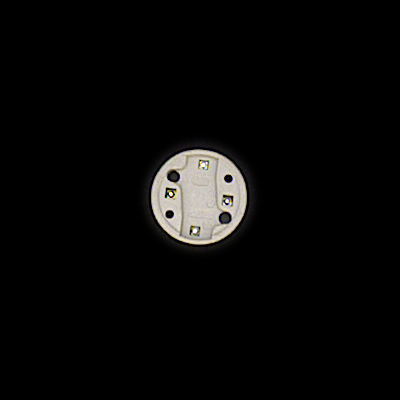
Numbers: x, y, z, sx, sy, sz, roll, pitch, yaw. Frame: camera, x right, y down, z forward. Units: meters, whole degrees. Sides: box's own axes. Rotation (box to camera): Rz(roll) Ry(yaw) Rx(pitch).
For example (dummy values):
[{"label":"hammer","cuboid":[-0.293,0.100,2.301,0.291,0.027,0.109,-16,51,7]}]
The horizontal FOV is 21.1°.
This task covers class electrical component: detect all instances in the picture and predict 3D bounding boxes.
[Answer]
[{"label":"electrical component","cuboid":[0.000,0.000,0.636,0.055,0.055,0.047,0,-7,0]}]
